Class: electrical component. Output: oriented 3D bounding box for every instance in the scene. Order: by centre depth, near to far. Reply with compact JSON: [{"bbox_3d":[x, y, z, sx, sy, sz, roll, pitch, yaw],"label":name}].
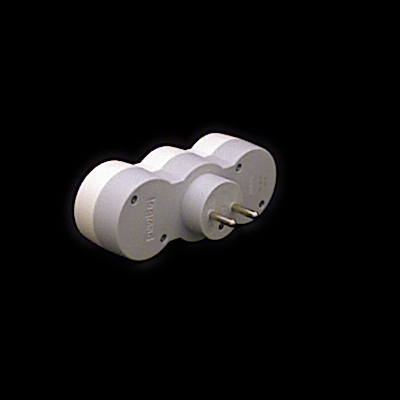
[{"bbox_3d":[0.000,0.000,0.643,0.073,0.053,0.138,22,28,40],"label":"electrical component"}]
